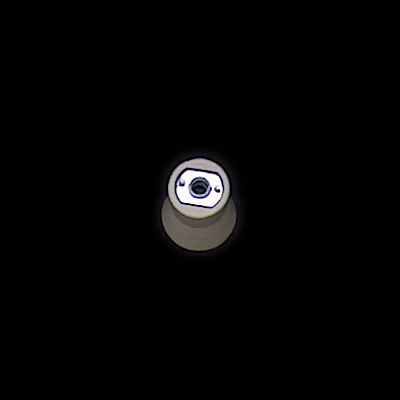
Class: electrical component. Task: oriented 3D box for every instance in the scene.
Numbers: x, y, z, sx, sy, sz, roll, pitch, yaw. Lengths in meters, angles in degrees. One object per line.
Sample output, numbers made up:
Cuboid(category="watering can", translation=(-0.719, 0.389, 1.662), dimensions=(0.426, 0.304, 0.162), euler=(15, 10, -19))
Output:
Cuboid(category="electrical component", translation=(0.000, 0.000, 0.624), dimensions=(0.044, 0.044, 0.065), euler=(0, -16, 0))
